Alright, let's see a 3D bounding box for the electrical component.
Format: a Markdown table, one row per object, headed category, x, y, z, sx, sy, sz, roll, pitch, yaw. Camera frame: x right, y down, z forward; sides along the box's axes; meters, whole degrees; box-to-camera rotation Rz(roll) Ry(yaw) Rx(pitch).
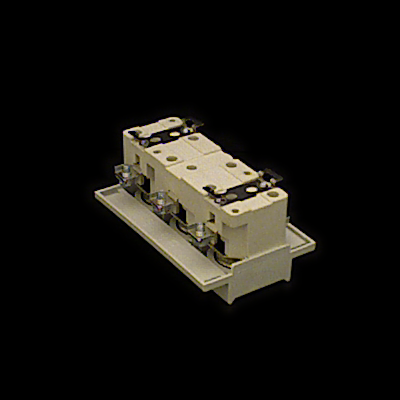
| category | x | y | z | sx | sy | sz | roll | pitch | yaw |
| --- | --- | --- | --- | --- | --- | --- | --- | --- | --- |
| electrical component | 0.000 | 0.000 | 0.643 | 0.079 | 0.064 | 0.119 | -19 | 37 | -30 |
